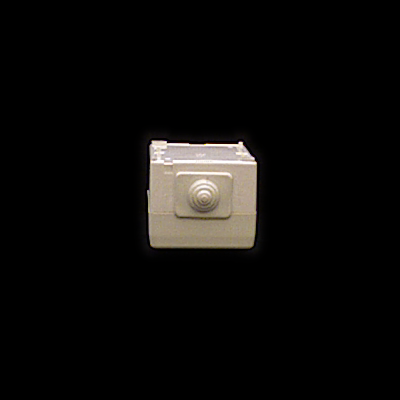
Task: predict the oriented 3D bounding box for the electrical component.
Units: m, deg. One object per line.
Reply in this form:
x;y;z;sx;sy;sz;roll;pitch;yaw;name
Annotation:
0.000;0.000;0.643;0.062;0.061;0.095;1;11;-4;electrical component
